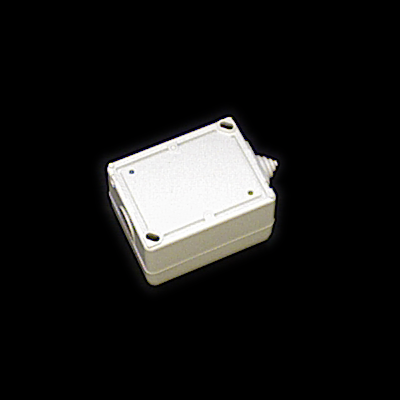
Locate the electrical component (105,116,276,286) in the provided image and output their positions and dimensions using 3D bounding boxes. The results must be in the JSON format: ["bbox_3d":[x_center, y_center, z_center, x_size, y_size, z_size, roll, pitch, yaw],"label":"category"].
[{"bbox_3d":[0.000,0.000,0.629,0.096,0.062,0.061,-22,-26,-11],"label":"electrical component"}]
